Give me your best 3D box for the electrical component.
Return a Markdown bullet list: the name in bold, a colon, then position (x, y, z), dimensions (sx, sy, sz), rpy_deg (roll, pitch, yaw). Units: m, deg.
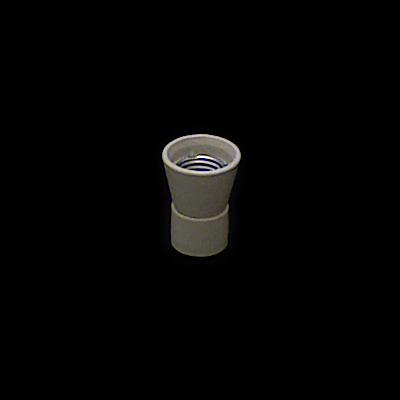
- **electrical component**: position (0.000, 0.000, 0.632), dimensions (0.044, 0.066, 0.044), rpy_deg (1, 32, -1)
